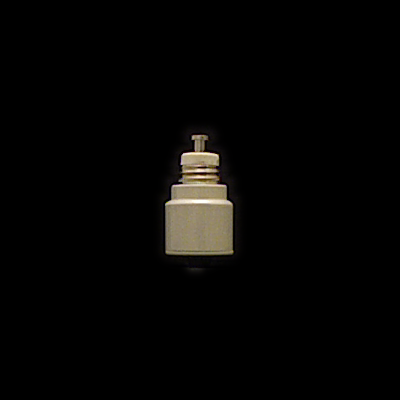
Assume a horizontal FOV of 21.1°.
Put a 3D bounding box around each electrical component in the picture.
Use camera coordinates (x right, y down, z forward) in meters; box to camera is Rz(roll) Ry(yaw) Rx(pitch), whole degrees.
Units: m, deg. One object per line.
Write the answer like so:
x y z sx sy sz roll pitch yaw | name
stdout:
0.000 0.000 0.650 0.040 0.078 0.040 0 2 0 | electrical component
